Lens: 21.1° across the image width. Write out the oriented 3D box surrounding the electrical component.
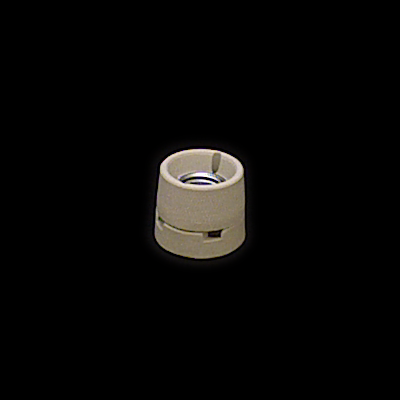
[{"bbox_3d":[0.000,0.000,0.639,0.055,0.047,0.055,1,31,-1],"label":"electrical component"}]
